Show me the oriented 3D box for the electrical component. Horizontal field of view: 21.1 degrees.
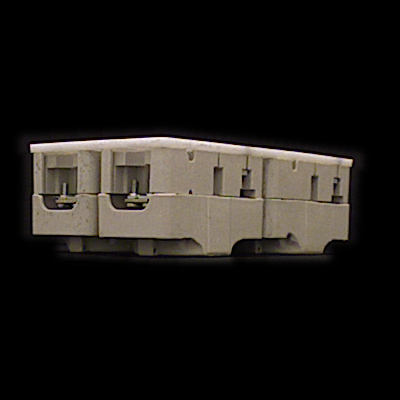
[{"bbox_3d":[0.000,0.000,0.650,0.105,0.060,0.187,1,-1,40],"label":"electrical component"}]
